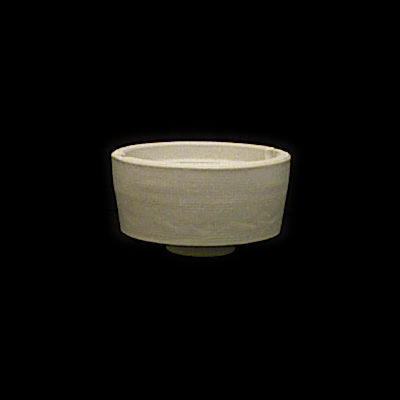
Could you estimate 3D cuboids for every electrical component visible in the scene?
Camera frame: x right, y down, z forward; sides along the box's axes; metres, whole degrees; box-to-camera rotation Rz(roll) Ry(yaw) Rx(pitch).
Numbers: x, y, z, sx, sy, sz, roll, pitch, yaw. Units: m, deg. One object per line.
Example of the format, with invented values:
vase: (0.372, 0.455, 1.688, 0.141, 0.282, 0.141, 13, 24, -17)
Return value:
electrical component: (0.000, 0.000, 0.654, 0.108, 0.061, 0.107, 1, 11, 0)
